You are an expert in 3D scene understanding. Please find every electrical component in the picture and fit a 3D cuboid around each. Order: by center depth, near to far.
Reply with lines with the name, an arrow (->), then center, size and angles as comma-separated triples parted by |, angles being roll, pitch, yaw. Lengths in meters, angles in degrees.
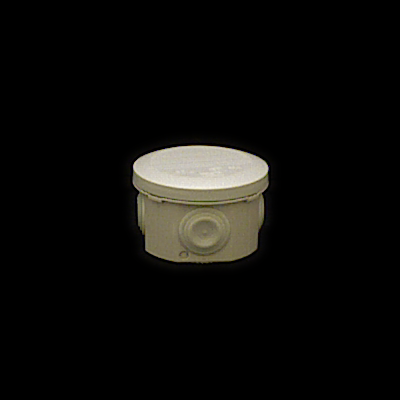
electrical component -> 0.000, 0.000, 0.639 | 0.080, 0.051, 0.079 | 1, 21, 0
